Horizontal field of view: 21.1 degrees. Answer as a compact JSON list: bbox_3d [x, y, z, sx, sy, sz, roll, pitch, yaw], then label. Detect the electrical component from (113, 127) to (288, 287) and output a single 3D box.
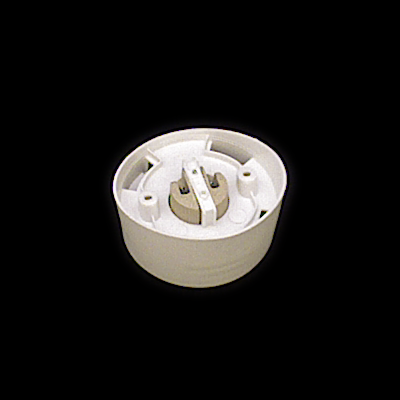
[{"bbox_3d":[0.000,0.000,0.625,0.099,0.098,0.064,0,-37,-2],"label":"electrical component"}]
